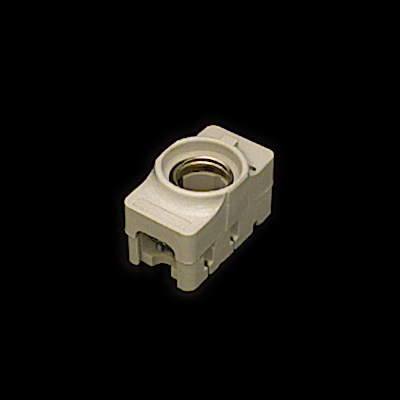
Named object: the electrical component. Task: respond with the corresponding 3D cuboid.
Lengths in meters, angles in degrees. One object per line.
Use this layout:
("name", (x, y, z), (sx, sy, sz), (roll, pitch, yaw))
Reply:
("electrical component", (0.000, 0.000, 0.639), (0.050, 0.056, 0.089), (26, 48, 25))
